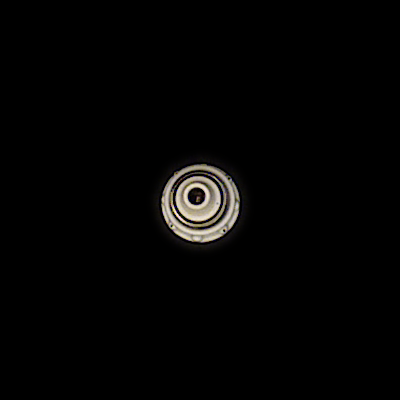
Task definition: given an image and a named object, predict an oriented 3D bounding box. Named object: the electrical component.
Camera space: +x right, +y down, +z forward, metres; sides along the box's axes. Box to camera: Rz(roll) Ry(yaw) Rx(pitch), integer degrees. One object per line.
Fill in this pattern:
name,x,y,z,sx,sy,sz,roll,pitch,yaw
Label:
electrical component,0.000,0.000,0.634,0.048,0.048,0.062,0,-5,2
